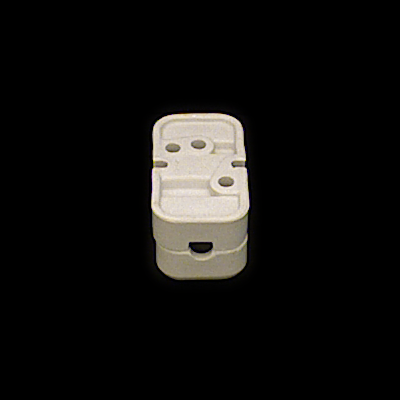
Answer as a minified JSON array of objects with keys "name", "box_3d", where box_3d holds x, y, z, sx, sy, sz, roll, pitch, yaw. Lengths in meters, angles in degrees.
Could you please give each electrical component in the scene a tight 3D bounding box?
[{"name":"electrical component","box_3d":[0.000,0.000,0.637,0.054,0.060,0.094,-1,43,-1]}]
